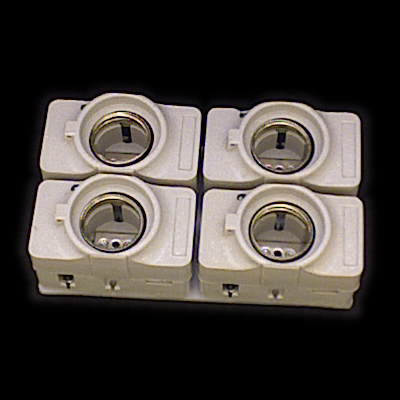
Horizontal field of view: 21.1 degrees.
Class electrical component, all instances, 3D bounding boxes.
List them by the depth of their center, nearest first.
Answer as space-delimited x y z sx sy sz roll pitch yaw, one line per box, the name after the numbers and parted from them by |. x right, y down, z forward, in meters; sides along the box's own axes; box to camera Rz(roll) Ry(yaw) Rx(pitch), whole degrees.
0.000 0.000 0.625 0.186 0.106 0.060 3 -27 1 | electrical component
